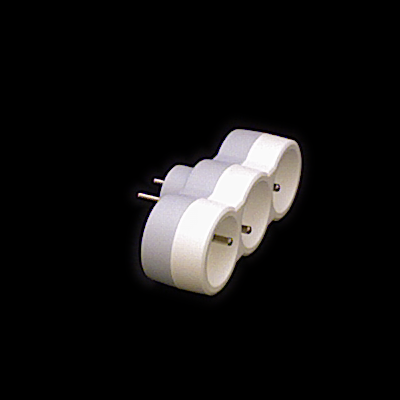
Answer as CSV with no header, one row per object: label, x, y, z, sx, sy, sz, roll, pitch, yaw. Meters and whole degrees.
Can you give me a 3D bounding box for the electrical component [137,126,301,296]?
electrical component,0.000,0.000,0.634,0.073,0.053,0.137,14,35,24
